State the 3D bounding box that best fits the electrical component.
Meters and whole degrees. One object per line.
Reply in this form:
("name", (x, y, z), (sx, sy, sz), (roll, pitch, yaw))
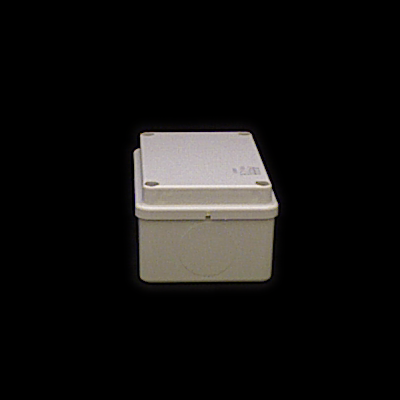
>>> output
("electrical component", (0.000, 0.000, 0.639), (0.078, 0.058, 0.111), (0, 20, -4))
